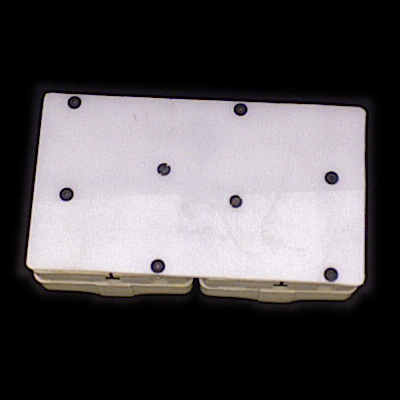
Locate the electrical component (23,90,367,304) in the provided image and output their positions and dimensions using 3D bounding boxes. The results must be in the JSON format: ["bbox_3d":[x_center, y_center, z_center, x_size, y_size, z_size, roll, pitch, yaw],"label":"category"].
[{"bbox_3d":[0.000,0.000,0.625,0.186,0.106,0.060,3,-17,1],"label":"electrical component"}]
